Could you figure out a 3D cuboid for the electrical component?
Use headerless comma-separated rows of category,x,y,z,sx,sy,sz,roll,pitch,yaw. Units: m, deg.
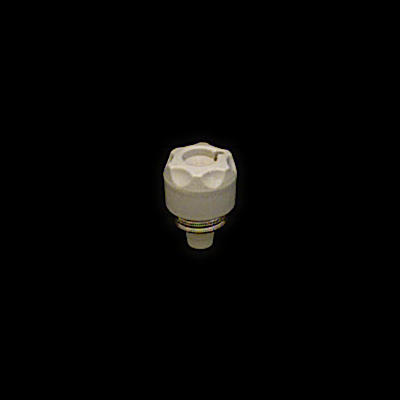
electrical component,0.000,0.000,0.641,0.043,0.063,0.043,0,33,0
